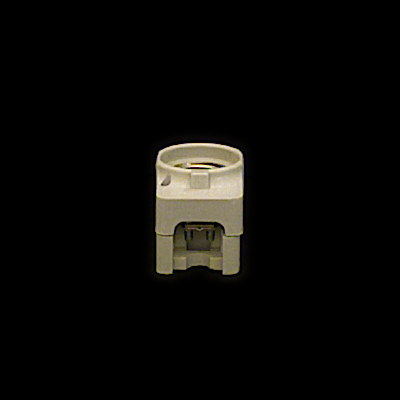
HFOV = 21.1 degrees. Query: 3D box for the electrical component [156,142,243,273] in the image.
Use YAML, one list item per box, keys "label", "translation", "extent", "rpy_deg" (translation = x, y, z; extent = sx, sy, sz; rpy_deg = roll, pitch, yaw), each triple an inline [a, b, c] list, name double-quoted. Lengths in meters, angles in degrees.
- label: "electrical component"
  translation: [0.000, 0.000, 0.646]
  extent: [0.050, 0.056, 0.088]
  rpy_deg: [1, 21, 0]
